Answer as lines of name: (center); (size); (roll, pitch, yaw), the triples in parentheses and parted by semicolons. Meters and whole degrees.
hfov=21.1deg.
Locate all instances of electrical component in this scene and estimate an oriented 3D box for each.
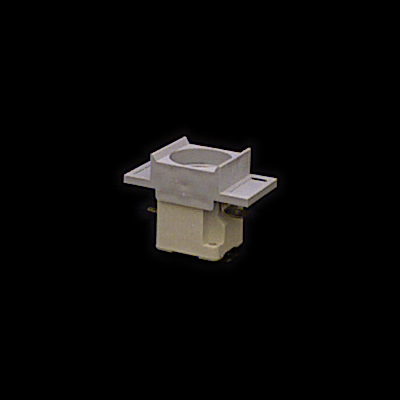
electrical component: (0.000, 0.000, 0.638); (0.080, 0.064, 0.042); (12, 25, 24)
